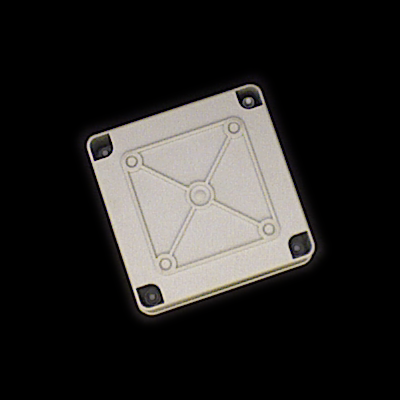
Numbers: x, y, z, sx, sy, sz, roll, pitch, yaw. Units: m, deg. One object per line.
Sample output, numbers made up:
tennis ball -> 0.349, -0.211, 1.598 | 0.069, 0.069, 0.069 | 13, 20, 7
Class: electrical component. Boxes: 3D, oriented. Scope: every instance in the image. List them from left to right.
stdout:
electrical component -> 0.000, 0.000, 0.629 | 0.109, 0.109, 0.056 | -18, -7, -3
